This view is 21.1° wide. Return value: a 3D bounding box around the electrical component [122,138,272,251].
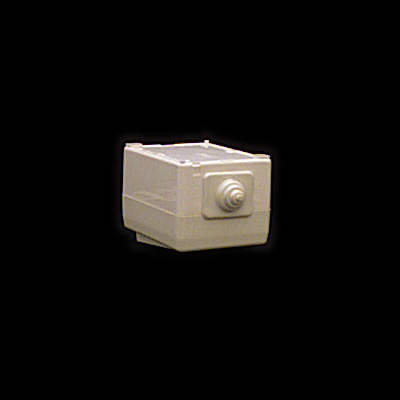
[{"bbox_3d":[0.000,0.000,0.642,0.062,0.061,0.095,-5,13,-28],"label":"electrical component"}]
